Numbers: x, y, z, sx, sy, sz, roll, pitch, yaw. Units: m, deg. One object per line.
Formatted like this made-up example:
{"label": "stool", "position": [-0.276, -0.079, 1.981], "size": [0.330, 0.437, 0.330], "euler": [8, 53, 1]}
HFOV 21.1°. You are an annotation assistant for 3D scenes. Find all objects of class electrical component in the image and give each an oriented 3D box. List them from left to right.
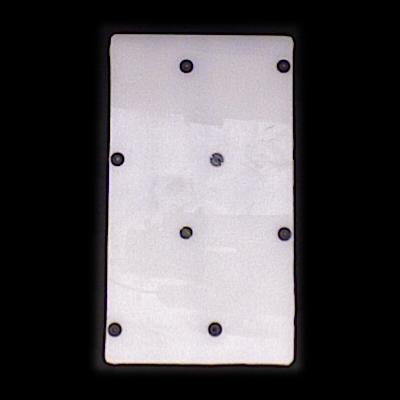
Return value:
{"label": "electrical component", "position": [0.000, 0.000, 0.626], "size": [0.105, 0.187, 0.060], "euler": [0, -7, 0]}
